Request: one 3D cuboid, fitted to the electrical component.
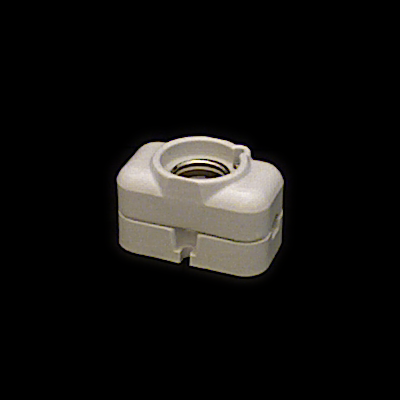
[{"bbox_3d":[0.000,0.000,0.642,0.094,0.060,0.053,12,34,16],"label":"electrical component"}]
